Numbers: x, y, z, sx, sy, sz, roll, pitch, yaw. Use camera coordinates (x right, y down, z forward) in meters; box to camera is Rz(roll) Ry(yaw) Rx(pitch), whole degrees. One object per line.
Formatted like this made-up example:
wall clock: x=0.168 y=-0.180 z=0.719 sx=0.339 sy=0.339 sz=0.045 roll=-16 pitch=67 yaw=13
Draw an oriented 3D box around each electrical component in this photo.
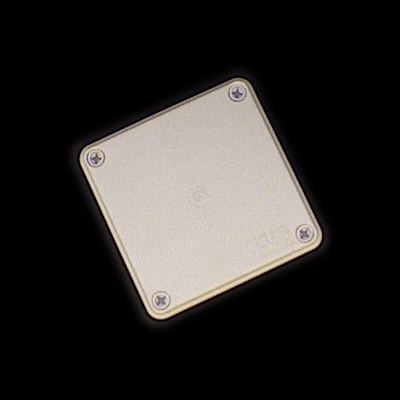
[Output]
electrical component: x=0.000 y=0.000 z=0.631 sx=0.109 sy=0.109 sz=0.056 roll=-25 pitch=-7 yaw=-2
